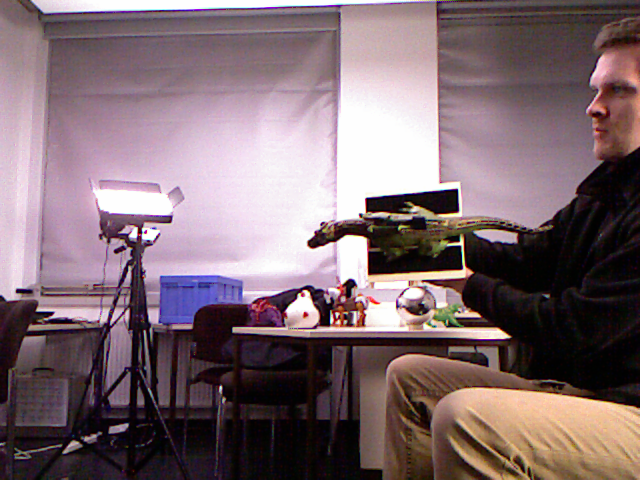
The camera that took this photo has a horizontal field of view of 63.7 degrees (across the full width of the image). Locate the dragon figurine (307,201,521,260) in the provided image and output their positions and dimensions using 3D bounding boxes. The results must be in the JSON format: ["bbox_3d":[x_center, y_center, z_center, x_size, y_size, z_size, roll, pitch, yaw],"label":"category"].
[{"bbox_3d":[0.180,-0.024,0.979,0.411,0.123,0.243,-7,-2,13],"label":"dragon figurine"}]
